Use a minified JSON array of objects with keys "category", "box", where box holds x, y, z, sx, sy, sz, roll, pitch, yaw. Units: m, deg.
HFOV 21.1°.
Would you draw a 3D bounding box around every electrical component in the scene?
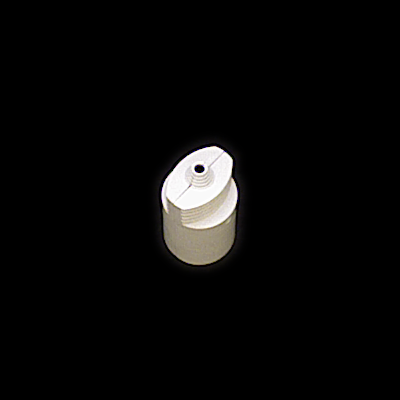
[{"category":"electrical component","box":[0.000,0.000,0.617,0.043,0.043,0.081,0,-27,0]}]
